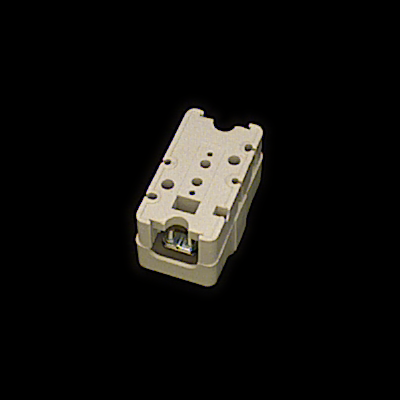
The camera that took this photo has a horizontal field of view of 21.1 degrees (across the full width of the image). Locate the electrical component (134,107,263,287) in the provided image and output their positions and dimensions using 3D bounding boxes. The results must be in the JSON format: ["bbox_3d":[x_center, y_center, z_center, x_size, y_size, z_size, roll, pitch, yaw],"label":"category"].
[{"bbox_3d":[0.000,0.000,0.637,0.050,0.089,0.056,17,-35,11],"label":"electrical component"}]
